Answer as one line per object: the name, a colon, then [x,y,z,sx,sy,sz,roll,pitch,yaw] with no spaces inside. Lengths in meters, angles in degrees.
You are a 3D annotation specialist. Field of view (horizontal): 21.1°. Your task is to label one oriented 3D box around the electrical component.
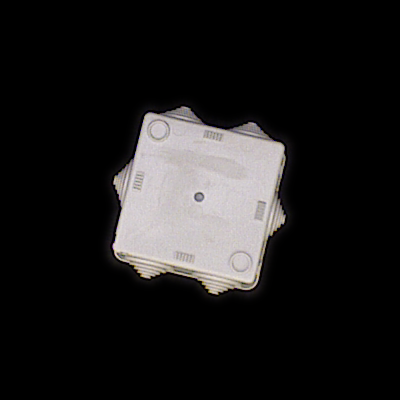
electrical component: [0.000,0.000,0.632,0.100,0.100,0.048,13,-7,1]
